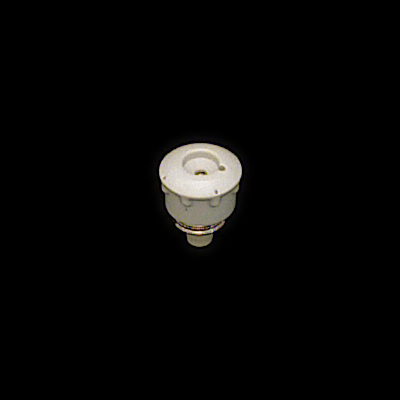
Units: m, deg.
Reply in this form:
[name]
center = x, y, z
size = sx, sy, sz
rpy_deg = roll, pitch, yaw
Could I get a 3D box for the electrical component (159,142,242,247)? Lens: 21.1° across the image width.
[electrical component]
center = 0.000, 0.000, 0.639
size = 0.048, 0.062, 0.047
rpy_deg = 1, 43, 0
